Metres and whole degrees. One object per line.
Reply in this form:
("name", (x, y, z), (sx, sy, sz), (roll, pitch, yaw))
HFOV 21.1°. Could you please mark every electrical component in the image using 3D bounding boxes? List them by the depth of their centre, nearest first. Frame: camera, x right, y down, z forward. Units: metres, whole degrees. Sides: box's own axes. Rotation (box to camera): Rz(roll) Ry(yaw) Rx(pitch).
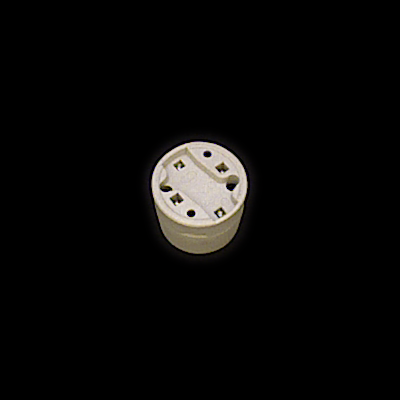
("electrical component", (0.000, 0.000, 0.634), (0.055, 0.056, 0.047), (0, -27, 0))
